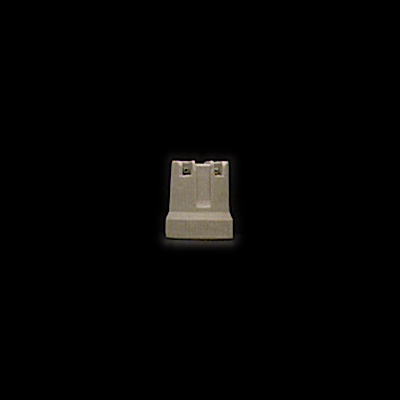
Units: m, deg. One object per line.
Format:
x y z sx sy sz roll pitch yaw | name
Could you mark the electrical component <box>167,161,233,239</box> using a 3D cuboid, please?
0.000 0.000 0.649 0.040 0.046 0.040 1 1 0 | electrical component
